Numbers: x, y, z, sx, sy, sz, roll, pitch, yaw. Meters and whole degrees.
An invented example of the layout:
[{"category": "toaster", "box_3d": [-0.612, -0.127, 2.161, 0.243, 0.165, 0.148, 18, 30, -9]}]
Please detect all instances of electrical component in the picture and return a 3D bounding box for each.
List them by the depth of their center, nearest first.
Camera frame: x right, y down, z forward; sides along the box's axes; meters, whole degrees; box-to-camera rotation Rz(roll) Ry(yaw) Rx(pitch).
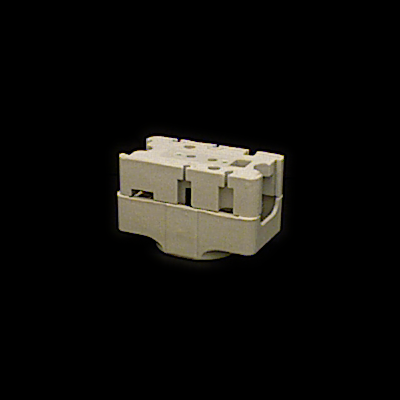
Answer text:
[{"category": "electrical component", "box_3d": [0.000, 0.000, 0.647, 0.089, 0.056, 0.050, 11, 23, 22]}]
